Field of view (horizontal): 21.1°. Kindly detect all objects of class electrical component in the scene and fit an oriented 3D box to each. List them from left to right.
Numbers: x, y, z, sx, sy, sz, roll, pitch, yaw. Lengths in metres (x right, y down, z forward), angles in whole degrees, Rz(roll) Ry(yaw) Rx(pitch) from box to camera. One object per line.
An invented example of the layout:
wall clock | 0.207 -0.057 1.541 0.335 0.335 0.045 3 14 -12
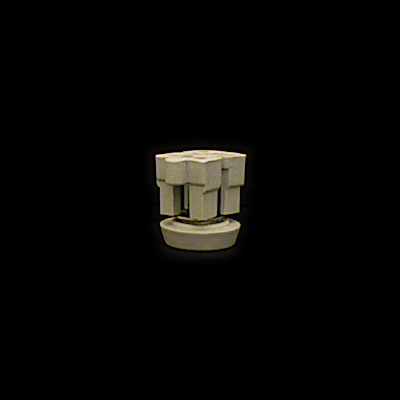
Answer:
electrical component | 0.000 0.000 0.650 0.048 0.056 0.067 8 13 35
